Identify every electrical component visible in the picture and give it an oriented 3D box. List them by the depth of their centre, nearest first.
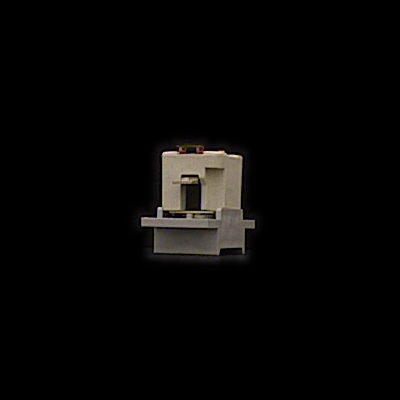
[{"bbox_3d":[0.000,0.000,0.651,0.042,0.064,0.081,2,1,21],"label":"electrical component"}]
